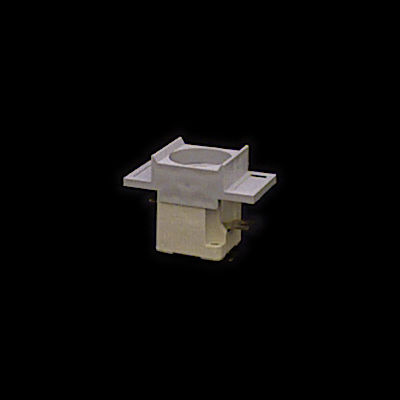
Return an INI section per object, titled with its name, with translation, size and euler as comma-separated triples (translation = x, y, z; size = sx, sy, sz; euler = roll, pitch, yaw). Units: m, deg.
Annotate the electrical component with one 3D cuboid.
[electrical component]
translation = 0.000, 0.000, 0.637
size = 0.080, 0.064, 0.042
euler = 9, 21, 20
